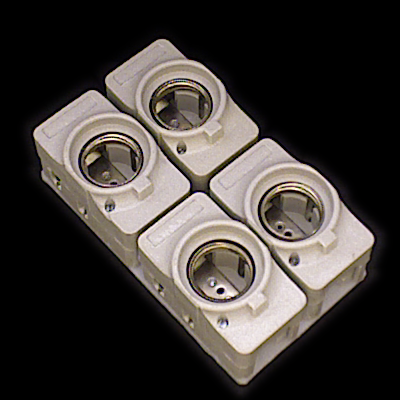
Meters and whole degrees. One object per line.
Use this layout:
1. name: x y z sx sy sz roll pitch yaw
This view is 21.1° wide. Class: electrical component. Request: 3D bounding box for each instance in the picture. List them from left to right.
1. electrical component: 0.000 0.000 0.626 0.106 0.186 0.060 -39 -20 -18
